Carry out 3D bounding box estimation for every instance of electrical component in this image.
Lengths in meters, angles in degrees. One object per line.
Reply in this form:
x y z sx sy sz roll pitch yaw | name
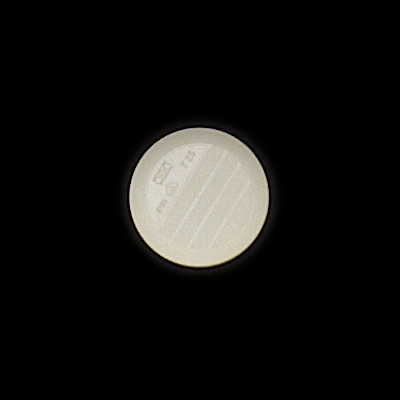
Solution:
0.000 0.000 0.631 0.080 0.080 0.050 0 -7 0 | electrical component
